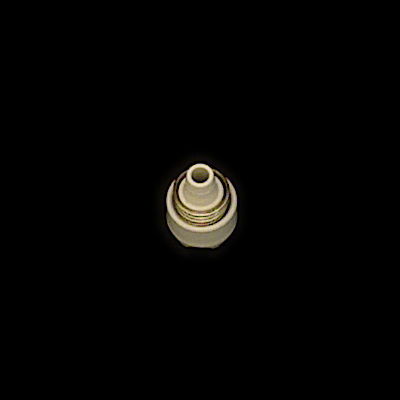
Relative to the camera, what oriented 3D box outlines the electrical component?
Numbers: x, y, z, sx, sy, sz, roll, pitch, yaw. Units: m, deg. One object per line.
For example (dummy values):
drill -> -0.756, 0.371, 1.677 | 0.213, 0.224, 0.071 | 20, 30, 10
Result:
electrical component -> 0.000, 0.000, 0.634 | 0.043, 0.043, 0.062 | 0, -28, 1
